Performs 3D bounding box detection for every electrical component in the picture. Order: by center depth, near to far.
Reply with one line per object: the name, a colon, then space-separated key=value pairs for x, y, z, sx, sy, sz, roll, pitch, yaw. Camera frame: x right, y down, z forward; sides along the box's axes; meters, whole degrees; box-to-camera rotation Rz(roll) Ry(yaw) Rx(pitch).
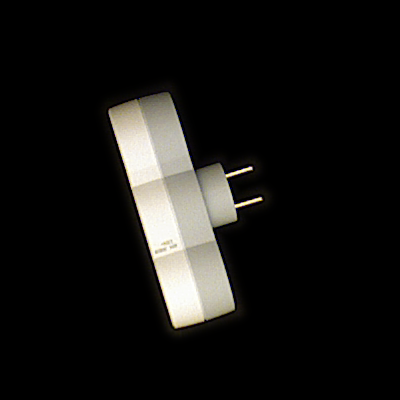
electrical component: x=0.000 y=0.000 z=0.639 sx=0.074 sy=0.138 sz=0.052 roll=-17 pitch=-6 yaw=-3
